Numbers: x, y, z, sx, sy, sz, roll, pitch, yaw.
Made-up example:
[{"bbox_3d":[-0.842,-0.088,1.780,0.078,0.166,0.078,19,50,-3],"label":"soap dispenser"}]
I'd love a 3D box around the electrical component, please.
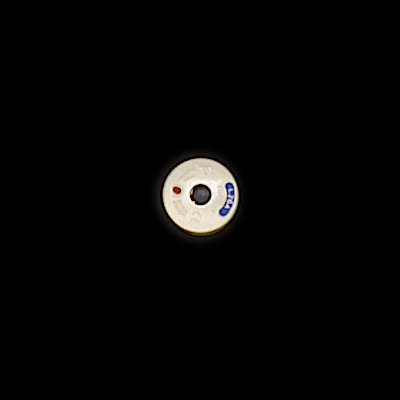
[{"bbox_3d":[0.000,0.000,0.618,0.040,0.040,0.078,0,-6,1],"label":"electrical component"}]
